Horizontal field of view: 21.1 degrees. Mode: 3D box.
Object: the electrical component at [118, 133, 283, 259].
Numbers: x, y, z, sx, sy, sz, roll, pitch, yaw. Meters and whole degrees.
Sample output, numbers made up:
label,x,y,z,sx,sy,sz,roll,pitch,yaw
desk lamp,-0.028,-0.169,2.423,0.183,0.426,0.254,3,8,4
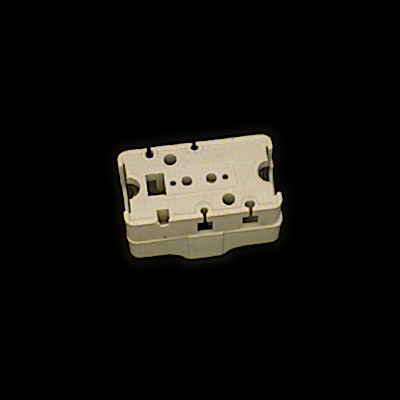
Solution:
label,x,y,z,sx,sy,sz,roll,pitch,yaw
electrical component,0.000,0.000,0.636,0.090,0.050,0.055,-7,-26,-3
